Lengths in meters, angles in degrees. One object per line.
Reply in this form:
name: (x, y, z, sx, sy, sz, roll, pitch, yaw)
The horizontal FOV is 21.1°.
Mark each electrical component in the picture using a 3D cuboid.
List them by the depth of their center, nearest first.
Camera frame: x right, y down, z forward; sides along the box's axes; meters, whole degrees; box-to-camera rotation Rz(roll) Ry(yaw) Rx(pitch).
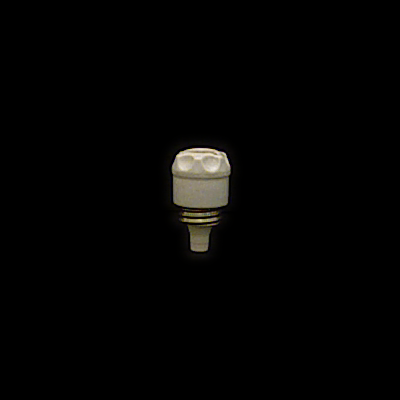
electrical component: (0.000, 0.000, 0.649, 0.035, 0.062, 0.035, 1, 12, 0)
